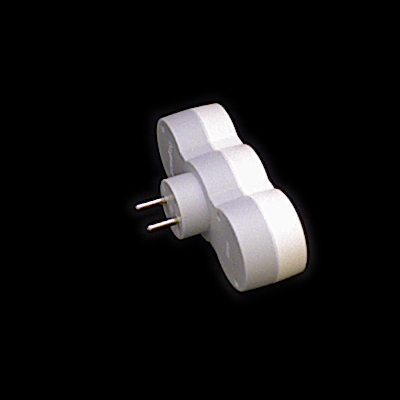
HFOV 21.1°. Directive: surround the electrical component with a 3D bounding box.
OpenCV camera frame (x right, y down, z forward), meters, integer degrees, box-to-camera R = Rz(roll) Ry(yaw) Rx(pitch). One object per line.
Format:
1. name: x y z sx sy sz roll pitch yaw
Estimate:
1. electrical component: 0.000 0.000 0.632 0.074 0.052 0.137 -17 46 -16
